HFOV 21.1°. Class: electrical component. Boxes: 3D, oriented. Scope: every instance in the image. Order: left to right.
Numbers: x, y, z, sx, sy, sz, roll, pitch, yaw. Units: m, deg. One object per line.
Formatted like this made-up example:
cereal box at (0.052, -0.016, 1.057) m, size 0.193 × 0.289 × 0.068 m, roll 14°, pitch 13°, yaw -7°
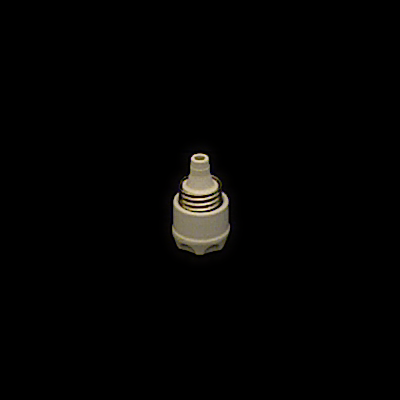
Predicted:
electrical component at (0.000, 0.000, 0.646) m, size 0.035 × 0.062 × 0.034 m, roll -1°, pitch 32°, yaw 1°
